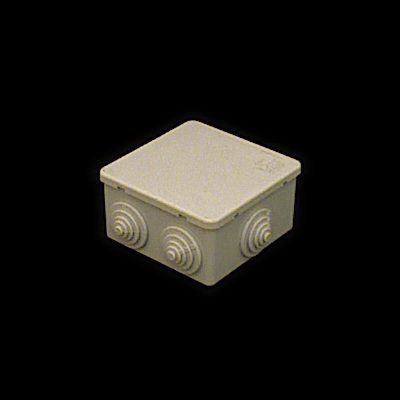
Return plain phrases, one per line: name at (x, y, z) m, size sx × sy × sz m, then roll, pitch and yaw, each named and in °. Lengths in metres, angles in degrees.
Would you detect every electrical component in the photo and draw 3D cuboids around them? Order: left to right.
electrical component at (0.000, 0.000, 0.645) m, size 0.098 × 0.049 × 0.100 m, roll 24°, pitch 39°, yaw 32°
